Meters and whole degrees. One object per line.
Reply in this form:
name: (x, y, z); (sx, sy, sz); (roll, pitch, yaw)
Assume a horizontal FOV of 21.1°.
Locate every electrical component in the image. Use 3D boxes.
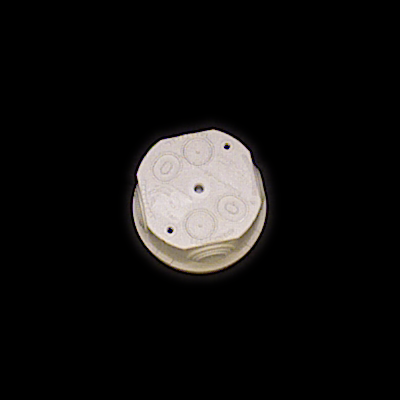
electrical component: (0.000, 0.000, 0.631); (0.080, 0.080, 0.050); (0, -16, 0)
